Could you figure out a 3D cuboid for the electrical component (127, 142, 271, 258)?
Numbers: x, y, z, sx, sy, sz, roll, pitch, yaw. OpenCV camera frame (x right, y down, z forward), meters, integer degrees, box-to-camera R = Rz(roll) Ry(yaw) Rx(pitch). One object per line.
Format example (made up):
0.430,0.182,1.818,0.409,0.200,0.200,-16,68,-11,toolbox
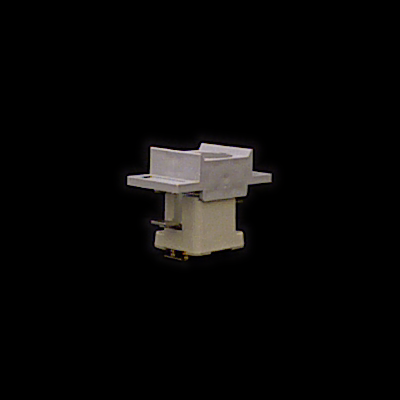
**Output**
0.000,0.000,0.641,0.042,0.064,0.081,13,15,43,electrical component
